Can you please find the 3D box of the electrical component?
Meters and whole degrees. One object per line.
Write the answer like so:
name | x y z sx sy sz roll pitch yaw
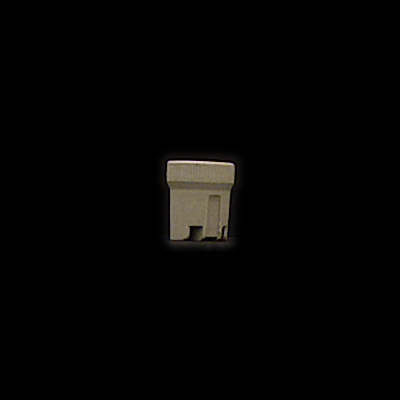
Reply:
electrical component | 0.000 0.000 0.647 0.040 0.046 0.040 1 1 0
